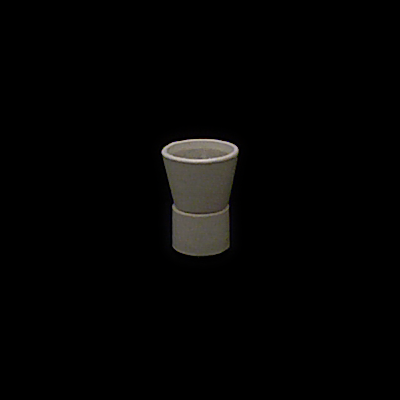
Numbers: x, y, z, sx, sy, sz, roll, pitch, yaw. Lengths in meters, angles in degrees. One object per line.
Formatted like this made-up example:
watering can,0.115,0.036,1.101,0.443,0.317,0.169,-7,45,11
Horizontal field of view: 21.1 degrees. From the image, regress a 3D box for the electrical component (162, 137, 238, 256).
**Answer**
electrical component,0.000,0.000,0.638,0.044,0.066,0.044,0,21,0
